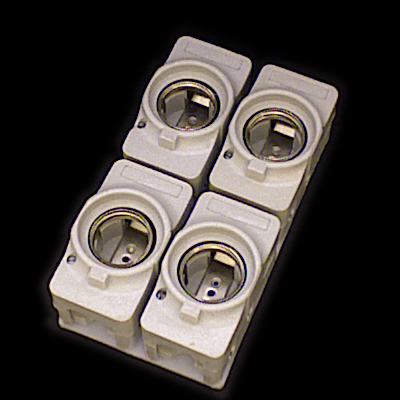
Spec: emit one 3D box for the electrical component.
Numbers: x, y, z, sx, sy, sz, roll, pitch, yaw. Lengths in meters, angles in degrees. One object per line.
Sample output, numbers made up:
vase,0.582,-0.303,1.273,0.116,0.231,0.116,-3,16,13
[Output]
electrical component,0.000,0.000,0.625,0.105,0.187,0.060,21,-25,10
